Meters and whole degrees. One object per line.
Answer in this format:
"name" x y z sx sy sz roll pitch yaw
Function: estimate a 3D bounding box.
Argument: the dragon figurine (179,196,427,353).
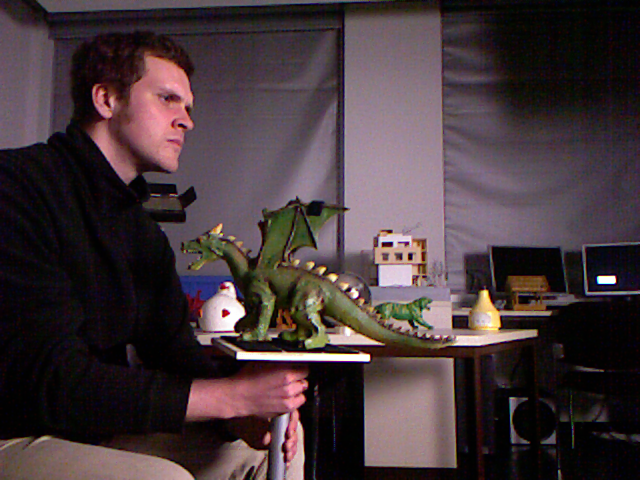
"dragon figurine" -0.033 0.047 0.836 0.410 0.244 0.122 2 -5 11
